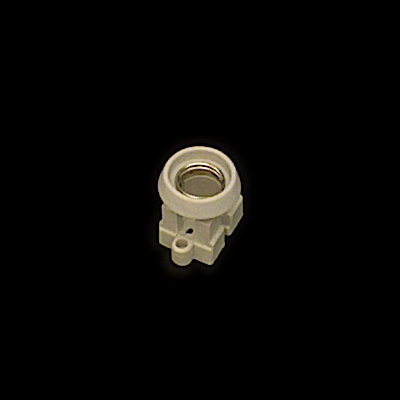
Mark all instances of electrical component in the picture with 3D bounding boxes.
[{"bbox_3d":[0.000,0.000,0.639,0.048,0.066,0.056,23,-34,14],"label":"electrical component"}]
